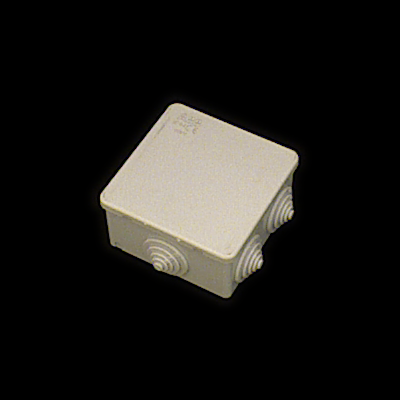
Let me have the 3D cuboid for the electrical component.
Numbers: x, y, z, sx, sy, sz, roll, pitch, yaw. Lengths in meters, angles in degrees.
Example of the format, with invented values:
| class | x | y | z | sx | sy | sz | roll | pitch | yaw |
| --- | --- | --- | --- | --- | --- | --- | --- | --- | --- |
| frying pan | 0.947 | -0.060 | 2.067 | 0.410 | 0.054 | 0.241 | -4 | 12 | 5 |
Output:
| class | x | y | z | sx | sy | sz | roll | pitch | yaw |
| --- | --- | --- | --- | --- | --- | --- | --- | --- | --- |
| electrical component | 0.000 | 0.000 | 0.641 | 0.099 | 0.100 | 0.049 | 24 | -33 | 17 |
